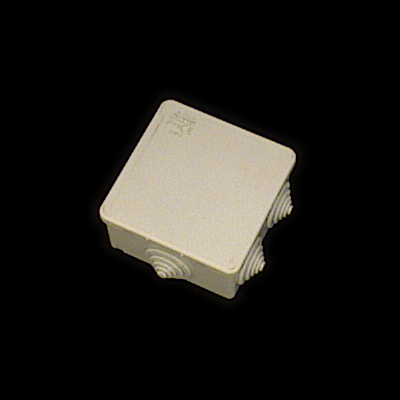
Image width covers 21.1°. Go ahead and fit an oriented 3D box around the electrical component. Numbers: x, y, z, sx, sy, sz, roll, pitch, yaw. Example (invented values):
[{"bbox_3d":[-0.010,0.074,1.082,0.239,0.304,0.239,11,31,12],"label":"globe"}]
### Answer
[{"bbox_3d":[0.000,0.000,0.640,0.099,0.100,0.048,24,-24,11],"label":"electrical component"}]
